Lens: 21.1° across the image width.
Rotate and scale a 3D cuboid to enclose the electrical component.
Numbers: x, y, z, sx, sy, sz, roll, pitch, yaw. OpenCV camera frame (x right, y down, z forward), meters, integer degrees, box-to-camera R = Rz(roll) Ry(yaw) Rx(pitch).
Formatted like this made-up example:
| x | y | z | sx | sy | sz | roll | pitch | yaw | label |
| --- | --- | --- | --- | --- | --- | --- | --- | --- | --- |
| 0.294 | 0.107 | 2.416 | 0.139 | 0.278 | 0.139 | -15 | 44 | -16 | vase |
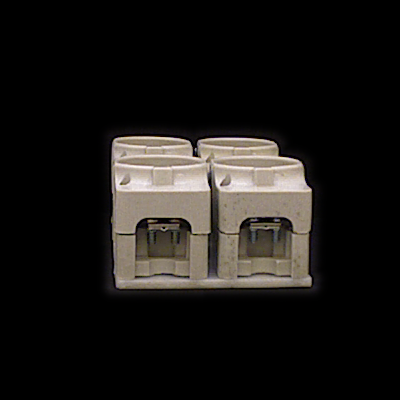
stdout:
| x | y | z | sx | sy | sz | roll | pitch | yaw | label |
| --- | --- | --- | --- | --- | --- | --- | --- | --- | --- |
| 0.000 | 0.000 | 0.644 | 0.105 | 0.061 | 0.184 | 0 | 10 | -5 | electrical component |
